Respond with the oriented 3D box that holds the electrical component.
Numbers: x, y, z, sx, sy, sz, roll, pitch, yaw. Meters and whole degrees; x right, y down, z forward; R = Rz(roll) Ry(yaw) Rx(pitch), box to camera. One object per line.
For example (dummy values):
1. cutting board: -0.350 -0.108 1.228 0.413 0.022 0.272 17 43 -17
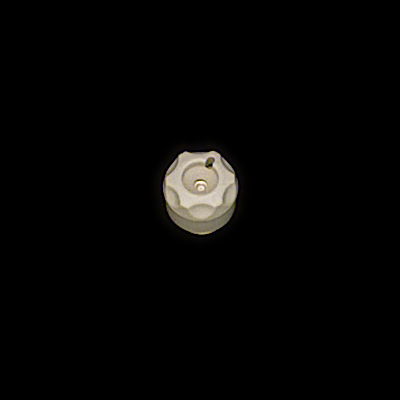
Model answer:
1. electrical component: 0.000 0.000 0.633 0.043 0.043 0.062 0 -26 1
